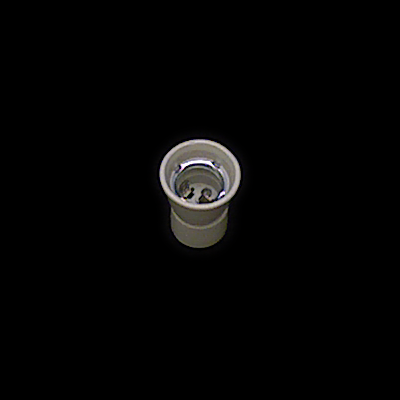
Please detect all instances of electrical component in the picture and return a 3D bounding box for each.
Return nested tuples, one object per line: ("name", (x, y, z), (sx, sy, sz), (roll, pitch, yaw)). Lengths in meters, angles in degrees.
("electrical component", (0.000, 0.000, 0.626), (0.044, 0.044, 0.065), (0, -28, -1))
